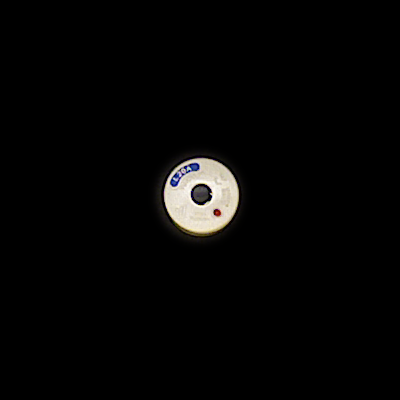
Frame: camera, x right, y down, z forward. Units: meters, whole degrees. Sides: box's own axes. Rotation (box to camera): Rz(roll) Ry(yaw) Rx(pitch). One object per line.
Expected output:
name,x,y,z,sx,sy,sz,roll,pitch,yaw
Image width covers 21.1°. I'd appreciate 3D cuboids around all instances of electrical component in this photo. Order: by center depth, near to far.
electrical component,0.000,0.000,0.617,0.040,0.040,0.078,0,-5,0
